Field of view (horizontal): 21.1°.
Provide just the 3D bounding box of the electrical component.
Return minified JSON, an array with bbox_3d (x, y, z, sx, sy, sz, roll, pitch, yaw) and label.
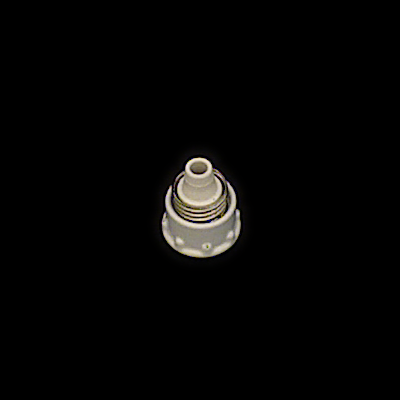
[{"bbox_3d":[0.000,0.000,0.635,0.048,0.048,0.062,0,-38,1],"label":"electrical component"}]
